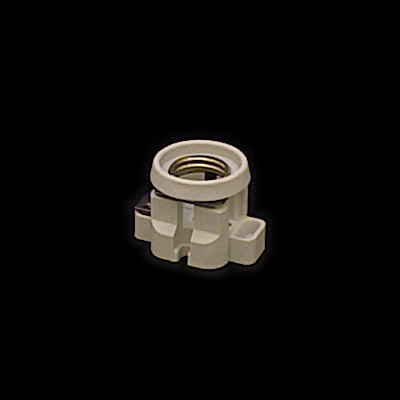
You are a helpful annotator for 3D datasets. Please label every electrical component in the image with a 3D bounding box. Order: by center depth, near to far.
[{"bbox_3d":[0.000,0.000,0.635,0.078,0.057,0.057,13,34,19],"label":"electrical component"}]
